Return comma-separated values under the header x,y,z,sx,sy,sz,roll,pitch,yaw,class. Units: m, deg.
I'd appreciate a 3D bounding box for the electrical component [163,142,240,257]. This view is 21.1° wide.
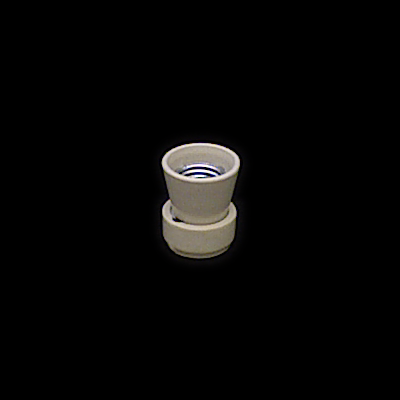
x,y,z,sx,sy,sz,roll,pitch,yaw,class
0.000,0.000,0.635,0.045,0.056,0.044,1,32,0,electrical component
